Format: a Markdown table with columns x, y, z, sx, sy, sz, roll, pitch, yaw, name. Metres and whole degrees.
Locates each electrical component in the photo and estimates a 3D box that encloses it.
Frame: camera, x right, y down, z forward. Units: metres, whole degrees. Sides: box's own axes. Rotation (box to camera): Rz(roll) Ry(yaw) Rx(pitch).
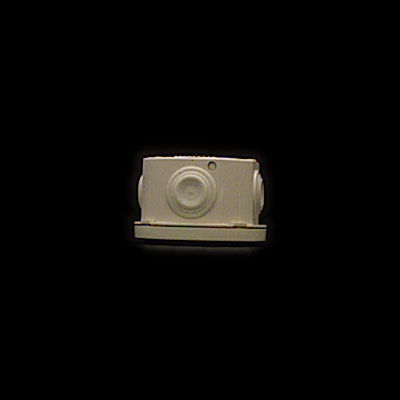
| x | y | z | sx | sy | sz | roll | pitch | yaw | name |
| --- | --- | --- | --- | --- | --- | --- | --- | --- | --- |
| 0.000 | 0.000 | 0.652 | 0.080 | 0.051 | 0.080 | 2 | 0 | 0 | electrical component |
